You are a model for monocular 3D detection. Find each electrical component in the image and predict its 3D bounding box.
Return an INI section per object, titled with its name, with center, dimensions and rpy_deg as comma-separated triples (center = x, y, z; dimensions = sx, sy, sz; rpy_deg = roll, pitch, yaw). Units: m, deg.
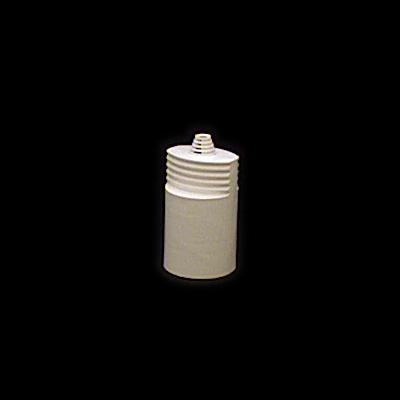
[electrical component]
center = 0.000, 0.000, 0.634
dimensions = 0.043, 0.082, 0.042
rpy_deg = 1, 21, 0
